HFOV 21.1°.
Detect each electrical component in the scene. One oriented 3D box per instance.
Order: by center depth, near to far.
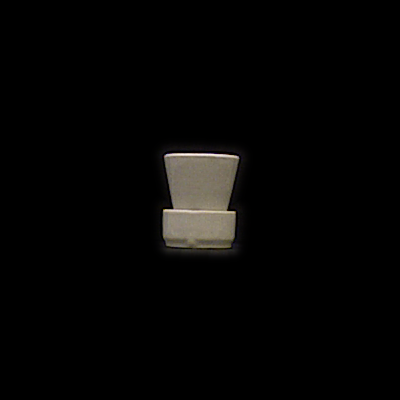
[{"bbox_3d":[0.001,0.000,0.651,0.045,0.055,0.044,2,1,0],"label":"electrical component"}]
